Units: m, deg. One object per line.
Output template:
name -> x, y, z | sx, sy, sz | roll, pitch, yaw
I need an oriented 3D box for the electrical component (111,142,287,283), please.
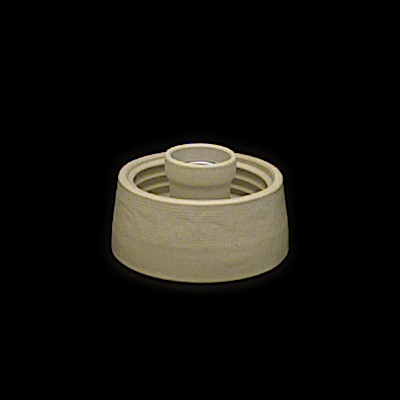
electrical component -> 0.000, 0.000, 0.645 | 0.108, 0.061, 0.106 | 1, 22, 0
